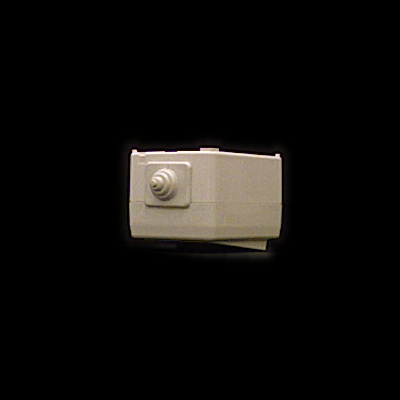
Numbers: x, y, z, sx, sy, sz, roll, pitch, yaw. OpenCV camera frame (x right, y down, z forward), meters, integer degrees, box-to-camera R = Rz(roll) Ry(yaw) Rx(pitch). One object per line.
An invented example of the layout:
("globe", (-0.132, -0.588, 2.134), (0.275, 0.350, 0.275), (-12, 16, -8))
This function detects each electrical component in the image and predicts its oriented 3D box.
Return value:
("electrical component", (0.000, 0.000, 0.650), (0.061, 0.061, 0.096), (2, 1, 34))
